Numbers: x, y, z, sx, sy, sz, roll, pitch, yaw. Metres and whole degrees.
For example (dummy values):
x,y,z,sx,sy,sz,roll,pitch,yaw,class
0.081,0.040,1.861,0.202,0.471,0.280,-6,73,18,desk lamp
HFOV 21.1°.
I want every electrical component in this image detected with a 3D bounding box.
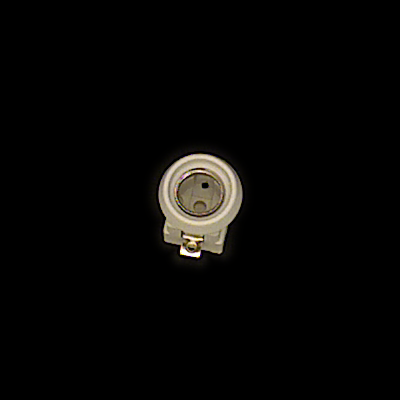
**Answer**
x,y,z,sx,sy,sz,roll,pitch,yaw,class
0.000,0.000,0.637,0.048,0.067,0.055,9,-16,5,electrical component
